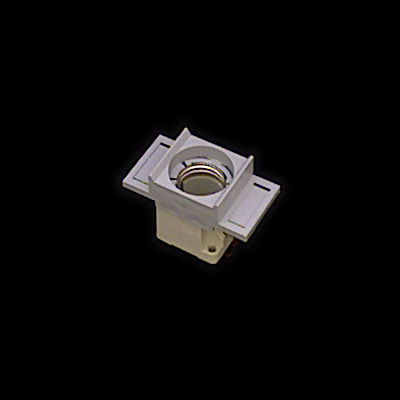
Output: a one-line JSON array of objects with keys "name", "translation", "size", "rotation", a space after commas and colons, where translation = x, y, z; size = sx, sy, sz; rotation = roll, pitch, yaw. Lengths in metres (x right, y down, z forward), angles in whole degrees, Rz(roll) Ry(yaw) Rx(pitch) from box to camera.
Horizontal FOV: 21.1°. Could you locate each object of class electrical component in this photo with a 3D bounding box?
[{"name": "electrical component", "translation": [0.000, 0.000, 0.626], "size": [0.080, 0.042, 0.064], "rotation": [25, -35, 18]}]
